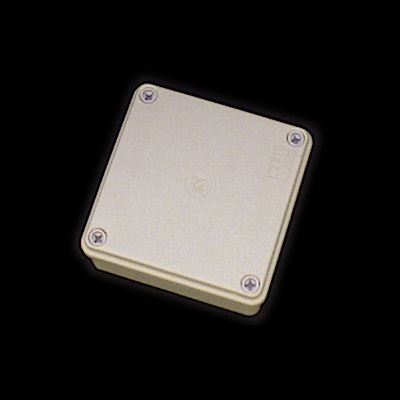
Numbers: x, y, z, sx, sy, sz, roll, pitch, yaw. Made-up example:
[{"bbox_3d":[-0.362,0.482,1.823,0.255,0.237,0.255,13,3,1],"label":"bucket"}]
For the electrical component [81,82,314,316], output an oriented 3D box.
[{"bbox_3d":[0.000,0.000,0.629,0.109,0.109,0.056,17,-16,5],"label":"electrical component"}]
